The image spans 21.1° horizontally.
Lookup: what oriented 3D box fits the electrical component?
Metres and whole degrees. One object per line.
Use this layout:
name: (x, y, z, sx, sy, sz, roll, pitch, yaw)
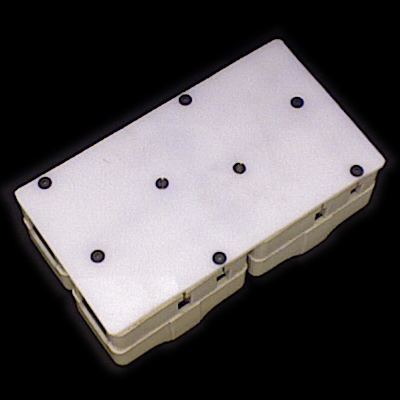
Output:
electrical component: (0.000, 0.000, 0.625, 0.187, 0.105, 0.060, -32, -23, -15)
